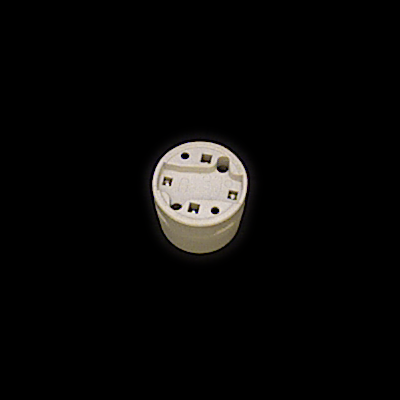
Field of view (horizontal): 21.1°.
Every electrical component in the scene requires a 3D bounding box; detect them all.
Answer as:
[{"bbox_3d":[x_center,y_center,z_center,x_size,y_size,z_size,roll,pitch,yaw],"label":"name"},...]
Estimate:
[{"bbox_3d":[0.000,0.000,0.634,0.055,0.056,0.047,0,-27,0],"label":"electrical component"}]
